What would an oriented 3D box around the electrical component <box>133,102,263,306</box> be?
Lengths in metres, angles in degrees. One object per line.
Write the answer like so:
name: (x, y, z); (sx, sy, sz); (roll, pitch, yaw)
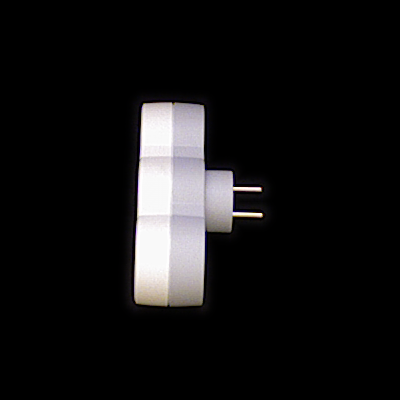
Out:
electrical component: (0.000, 0.000, 0.633); (0.074, 0.137, 0.052); (1, -38, -2)
